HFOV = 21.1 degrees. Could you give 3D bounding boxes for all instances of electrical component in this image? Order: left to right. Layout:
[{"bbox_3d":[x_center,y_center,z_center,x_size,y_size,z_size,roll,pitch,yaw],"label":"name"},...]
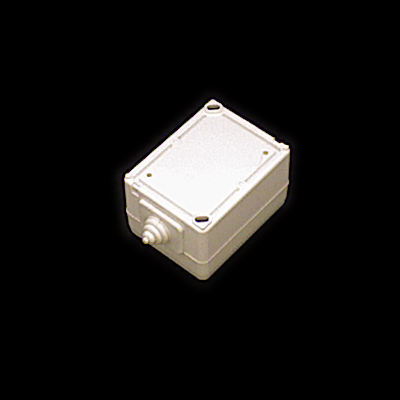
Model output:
[{"bbox_3d":[0.000,0.000,0.629,0.061,0.096,0.061,34,-30,23],"label":"electrical component"}]
